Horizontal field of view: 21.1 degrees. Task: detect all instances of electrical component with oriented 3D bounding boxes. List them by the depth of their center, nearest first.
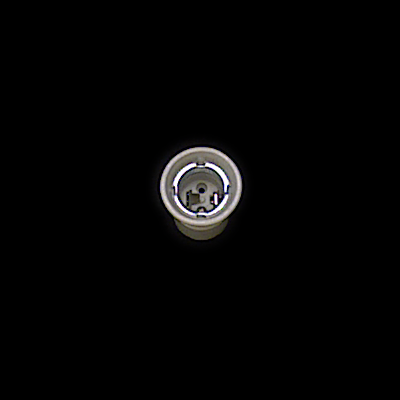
[{"bbox_3d":[0.000,0.000,0.623,0.044,0.044,0.065,0,-16,0],"label":"electrical component"}]
